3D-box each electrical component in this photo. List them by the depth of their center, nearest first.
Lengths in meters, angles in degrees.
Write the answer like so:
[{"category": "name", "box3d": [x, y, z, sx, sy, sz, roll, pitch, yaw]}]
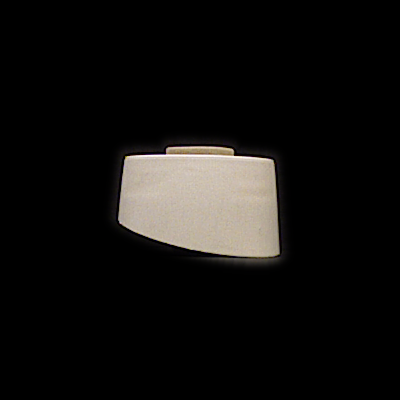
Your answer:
[{"category": "electrical component", "box3d": [0.000, 0.000, 0.650, 0.099, 0.064, 0.099, 2, 0, 0]}]
